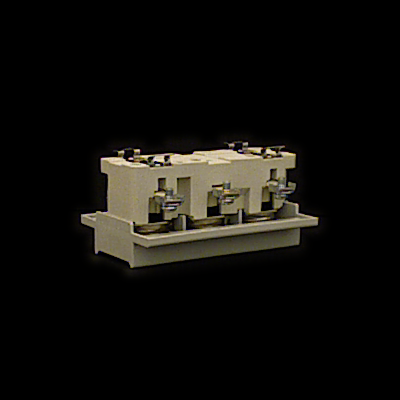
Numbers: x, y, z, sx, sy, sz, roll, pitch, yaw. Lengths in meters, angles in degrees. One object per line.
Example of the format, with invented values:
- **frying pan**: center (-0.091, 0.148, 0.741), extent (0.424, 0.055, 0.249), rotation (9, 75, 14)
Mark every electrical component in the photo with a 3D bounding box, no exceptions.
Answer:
- **electrical component**: center (0.000, 0.000, 0.653), extent (0.122, 0.063, 0.077), rotation (-6, 12, -34)
